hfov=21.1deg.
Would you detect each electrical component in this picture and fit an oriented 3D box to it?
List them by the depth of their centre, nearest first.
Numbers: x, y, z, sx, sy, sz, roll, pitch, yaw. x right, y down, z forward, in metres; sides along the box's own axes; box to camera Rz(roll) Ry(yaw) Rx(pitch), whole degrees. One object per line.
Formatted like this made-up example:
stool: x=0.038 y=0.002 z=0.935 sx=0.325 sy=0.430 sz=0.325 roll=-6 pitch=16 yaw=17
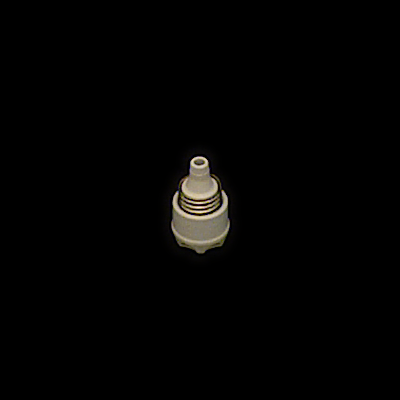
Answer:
electrical component: x=0.000 y=0.000 z=0.641 sx=0.035 sy=0.062 sz=0.035 roll=0 pitch=41 yaw=1
